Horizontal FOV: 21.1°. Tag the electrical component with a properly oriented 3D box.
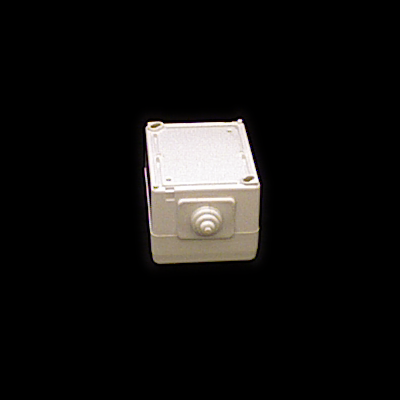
[{"bbox_3d":[0.000,0.000,0.633,0.062,0.061,0.095,-2,32,-5],"label":"electrical component"}]
